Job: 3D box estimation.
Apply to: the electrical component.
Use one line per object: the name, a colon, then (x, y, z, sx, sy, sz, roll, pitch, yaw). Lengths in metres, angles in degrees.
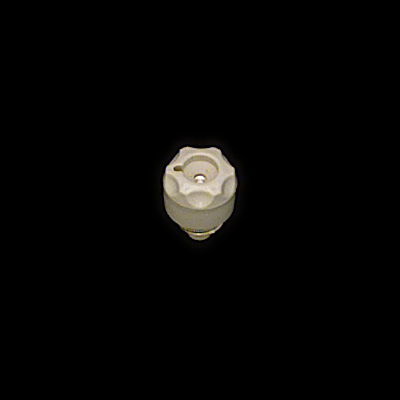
electrical component: (0.000, 0.000, 0.636, 0.043, 0.043, 0.062, 0, -38, -1)
